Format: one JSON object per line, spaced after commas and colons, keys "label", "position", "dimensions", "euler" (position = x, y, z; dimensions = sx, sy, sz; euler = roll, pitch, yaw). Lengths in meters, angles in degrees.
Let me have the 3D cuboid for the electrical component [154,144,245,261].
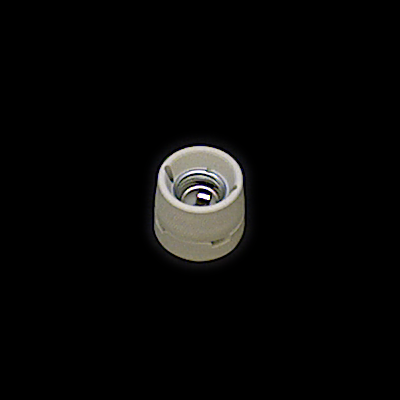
{"label": "electrical component", "position": [0.000, 0.000, 0.633], "dimensions": [0.055, 0.055, 0.047], "euler": [0, -37, -2]}
